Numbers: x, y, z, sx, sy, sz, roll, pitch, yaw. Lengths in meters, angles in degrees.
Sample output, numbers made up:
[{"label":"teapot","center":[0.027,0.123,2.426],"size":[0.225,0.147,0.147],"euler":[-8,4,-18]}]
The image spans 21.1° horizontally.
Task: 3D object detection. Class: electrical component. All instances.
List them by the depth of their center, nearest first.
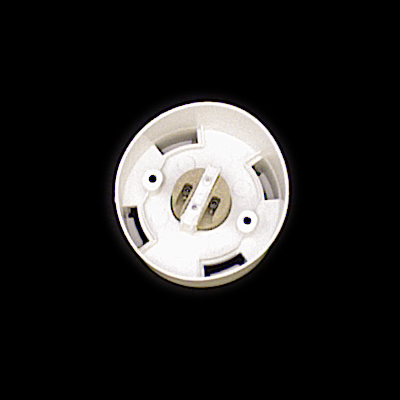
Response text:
[{"label":"electrical component","center":[0.000,0.000,0.624],"size":[0.099,0.099,0.064],"euler":[0,-18,0]}]
